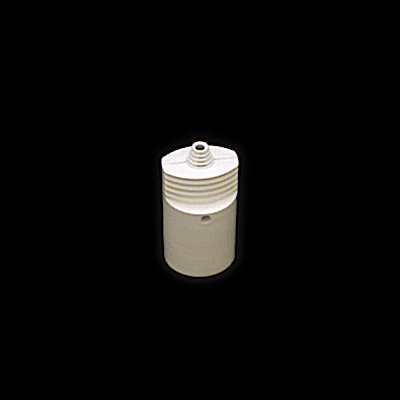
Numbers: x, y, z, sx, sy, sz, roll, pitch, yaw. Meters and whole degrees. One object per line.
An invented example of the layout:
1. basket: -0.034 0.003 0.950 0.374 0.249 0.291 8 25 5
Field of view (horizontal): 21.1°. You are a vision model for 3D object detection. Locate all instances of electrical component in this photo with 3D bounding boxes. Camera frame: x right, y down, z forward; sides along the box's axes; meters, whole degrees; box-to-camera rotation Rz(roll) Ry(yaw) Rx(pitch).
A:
1. electrical component: 0.000 0.000 0.623 0.043 0.082 0.042 0 42 0
